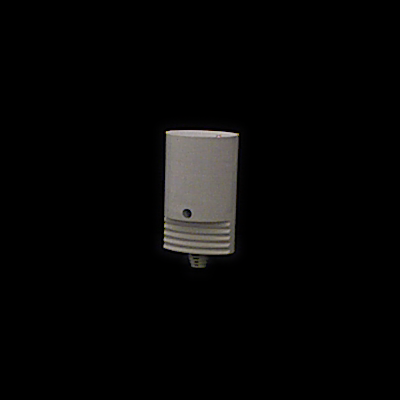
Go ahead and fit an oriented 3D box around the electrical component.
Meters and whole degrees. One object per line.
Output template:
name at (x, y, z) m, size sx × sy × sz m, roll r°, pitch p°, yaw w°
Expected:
electrical component at (0.000, 0.000, 0.643) m, size 0.043 × 0.082 × 0.042 m, roll 2°, pitch 12°, yaw 0°
